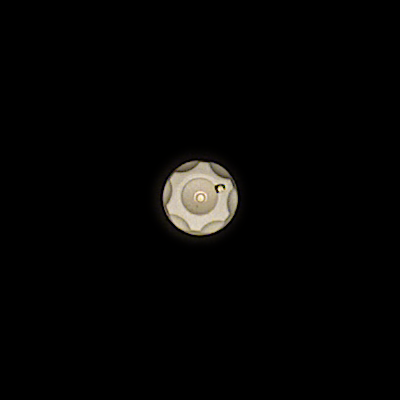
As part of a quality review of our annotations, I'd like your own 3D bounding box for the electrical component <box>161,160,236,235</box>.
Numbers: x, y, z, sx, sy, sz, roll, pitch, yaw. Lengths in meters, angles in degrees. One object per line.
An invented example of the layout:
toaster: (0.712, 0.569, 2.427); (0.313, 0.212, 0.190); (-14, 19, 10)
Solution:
electrical component: (0.000, 0.000, 0.635); (0.043, 0.043, 0.062); (0, -5, 2)
